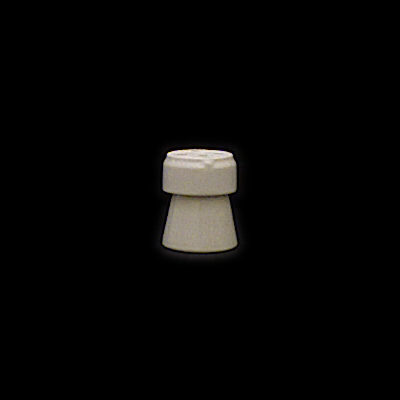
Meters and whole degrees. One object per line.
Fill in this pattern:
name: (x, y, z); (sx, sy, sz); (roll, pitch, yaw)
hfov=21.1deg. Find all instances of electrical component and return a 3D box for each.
electrical component: (0.000, 0.000, 0.644); (0.045, 0.055, 0.044); (1, 11, 0)
